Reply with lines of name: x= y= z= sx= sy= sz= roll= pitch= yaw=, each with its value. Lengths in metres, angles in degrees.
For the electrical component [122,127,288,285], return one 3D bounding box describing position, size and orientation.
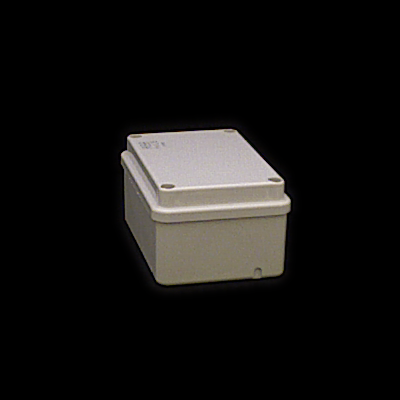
electrical component: x=0.000 y=0.000 z=0.638 sx=0.078 sy=0.058 sz=0.111 roll=-4 pitch=22 yaw=-13
